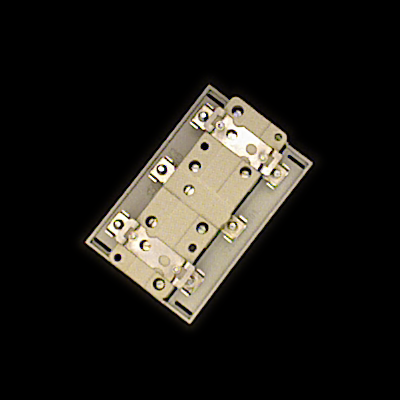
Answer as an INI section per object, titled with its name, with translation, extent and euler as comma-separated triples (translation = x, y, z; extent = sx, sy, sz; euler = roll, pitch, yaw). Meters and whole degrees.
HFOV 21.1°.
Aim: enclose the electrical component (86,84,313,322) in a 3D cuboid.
[electrical component]
translation = 0.000, 0.000, 0.634
extent = 0.079, 0.122, 0.063
euler = 37, -5, 3
